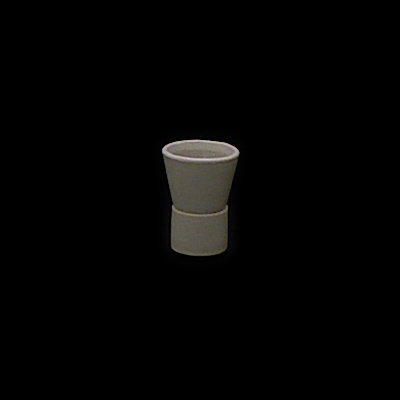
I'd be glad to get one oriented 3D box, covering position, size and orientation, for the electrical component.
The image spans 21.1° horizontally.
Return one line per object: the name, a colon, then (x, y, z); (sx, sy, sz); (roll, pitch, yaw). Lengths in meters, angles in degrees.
electrical component: (0.000, 0.000, 0.640); (0.044, 0.066, 0.044); (1, 20, 0)
